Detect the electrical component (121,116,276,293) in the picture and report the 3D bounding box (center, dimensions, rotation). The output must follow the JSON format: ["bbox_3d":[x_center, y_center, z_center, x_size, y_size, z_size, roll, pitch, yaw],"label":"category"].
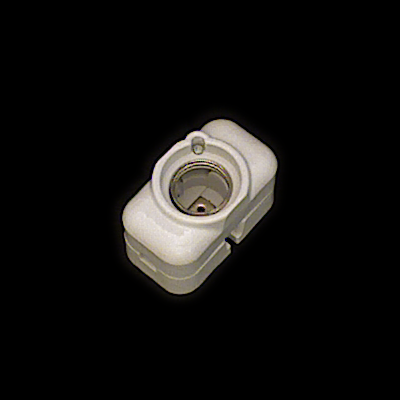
[{"bbox_3d":[0.000,0.000,0.634,0.053,0.095,0.059,37,-21,16],"label":"electrical component"}]
